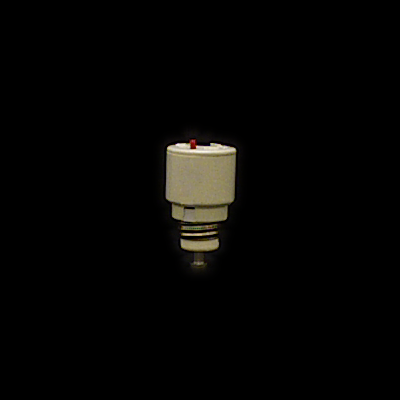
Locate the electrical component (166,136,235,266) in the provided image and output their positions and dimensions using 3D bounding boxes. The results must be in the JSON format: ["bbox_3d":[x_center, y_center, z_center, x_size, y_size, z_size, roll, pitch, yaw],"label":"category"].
[{"bbox_3d":[0.000,0.000,0.640,0.040,0.079,0.040,1,12,0],"label":"electrical component"}]
